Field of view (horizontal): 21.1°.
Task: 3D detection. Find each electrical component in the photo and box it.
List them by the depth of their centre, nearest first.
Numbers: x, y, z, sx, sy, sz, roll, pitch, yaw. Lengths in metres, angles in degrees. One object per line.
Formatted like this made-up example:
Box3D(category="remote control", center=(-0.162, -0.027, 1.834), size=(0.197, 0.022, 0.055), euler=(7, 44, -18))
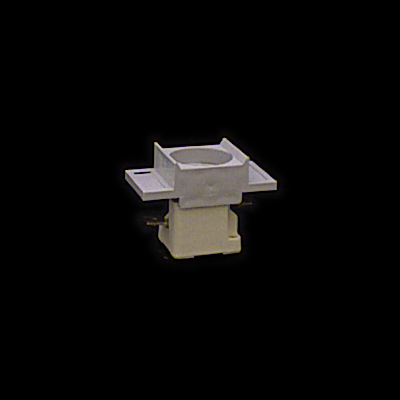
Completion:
Box3D(category="electrical component", center=(0.000, 0.000, 0.636), size=(0.081, 0.064, 0.041), euler=(-5, 23, -17))
